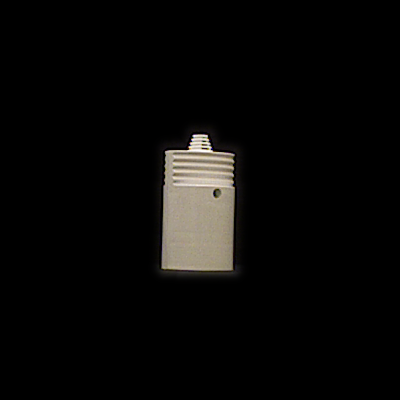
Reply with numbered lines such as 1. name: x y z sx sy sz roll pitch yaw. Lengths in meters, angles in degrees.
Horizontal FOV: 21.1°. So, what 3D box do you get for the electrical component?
1. electrical component: 0.000 0.000 0.649 0.043 0.081 0.043 1 1 0
